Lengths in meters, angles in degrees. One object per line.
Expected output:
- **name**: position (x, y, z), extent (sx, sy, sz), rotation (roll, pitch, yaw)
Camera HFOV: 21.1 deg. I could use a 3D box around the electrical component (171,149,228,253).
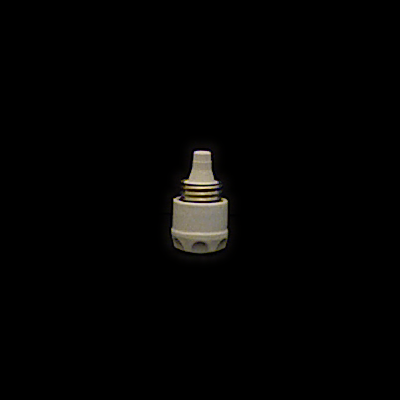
- **electrical component**: position (0.000, 0.000, 0.657), extent (0.035, 0.062, 0.035), rotation (2, 11, 0)
